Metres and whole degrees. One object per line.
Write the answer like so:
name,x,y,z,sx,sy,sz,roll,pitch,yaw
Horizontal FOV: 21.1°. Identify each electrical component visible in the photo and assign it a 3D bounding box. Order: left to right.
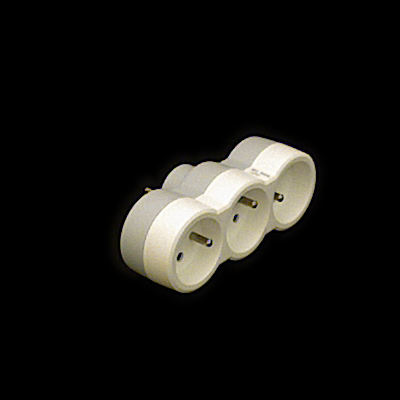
electrical component,0.000,0.000,0.646,0.072,0.053,0.138,24,39,34
